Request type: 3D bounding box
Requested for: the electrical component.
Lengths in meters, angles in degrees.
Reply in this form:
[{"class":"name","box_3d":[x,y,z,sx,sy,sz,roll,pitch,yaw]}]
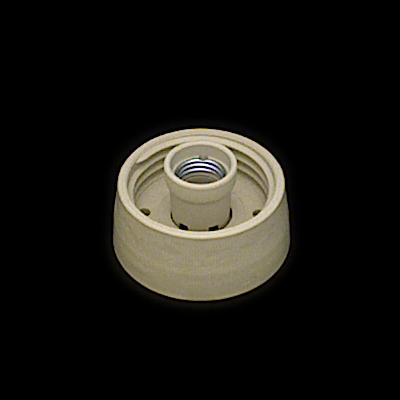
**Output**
[{"class":"electrical component","box_3d":[0.000,0.000,0.639,0.108,0.061,0.106,1,43,0]}]
